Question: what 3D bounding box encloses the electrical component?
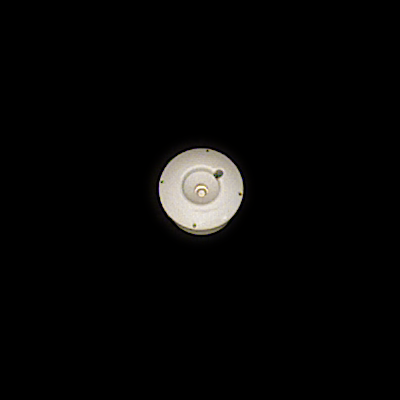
[{"bbox_3d":[0.000,0.000,0.634,0.048,0.048,0.062,0,-16,1],"label":"electrical component"}]
